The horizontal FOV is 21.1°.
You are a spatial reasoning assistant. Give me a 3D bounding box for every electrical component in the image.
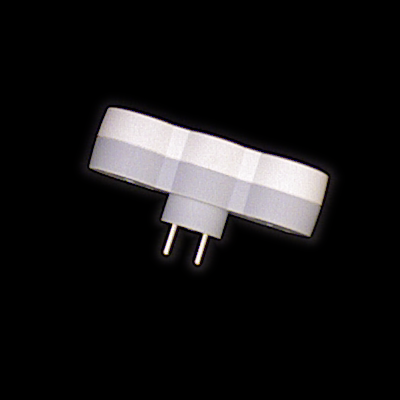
[{"bbox_3d":[0.000,0.000,0.632,0.138,0.074,0.052,17,-4,1],"label":"electrical component"}]
